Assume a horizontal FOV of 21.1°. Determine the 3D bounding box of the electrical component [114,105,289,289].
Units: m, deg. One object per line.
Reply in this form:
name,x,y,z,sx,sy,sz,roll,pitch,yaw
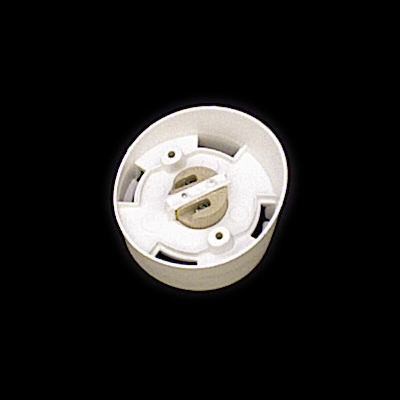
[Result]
electrical component,0.000,0.000,0.625,0.099,0.099,0.064,0,-28,-1
